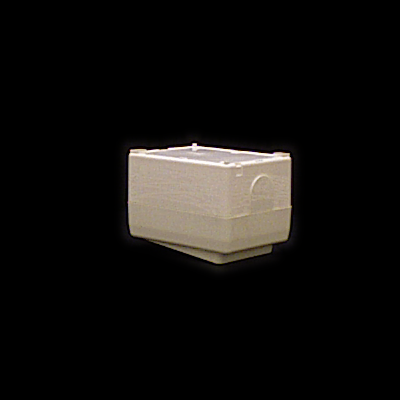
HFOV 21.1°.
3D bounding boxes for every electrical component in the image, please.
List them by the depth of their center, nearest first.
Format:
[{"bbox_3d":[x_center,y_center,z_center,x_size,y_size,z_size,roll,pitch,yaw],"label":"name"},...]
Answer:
[{"bbox_3d":[0.000,0.000,0.647,0.096,0.061,0.061,9,13,41],"label":"electrical component"}]
